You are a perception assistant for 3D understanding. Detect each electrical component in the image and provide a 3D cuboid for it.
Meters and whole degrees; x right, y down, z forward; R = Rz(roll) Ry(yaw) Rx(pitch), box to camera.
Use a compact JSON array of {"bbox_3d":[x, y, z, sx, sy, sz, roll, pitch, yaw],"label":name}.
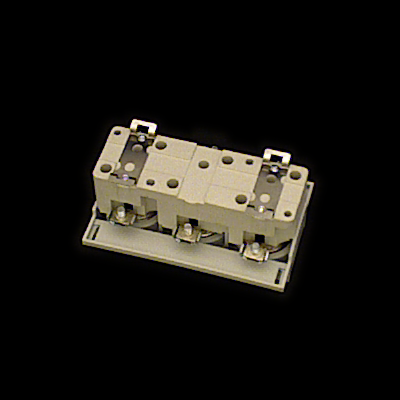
[{"bbox_3d":[0.000,0.000,0.633,0.121,0.078,0.063,13,-35,9],"label":"electrical component"}]
